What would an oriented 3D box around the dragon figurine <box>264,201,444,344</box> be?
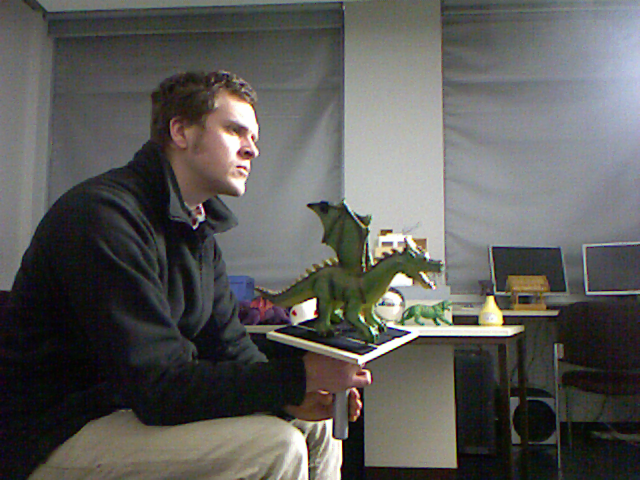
[{"bbox_3d":[0.029,0.047,0.947,0.412,0.241,0.123,8,14,38],"label":"dragon figurine"}]
